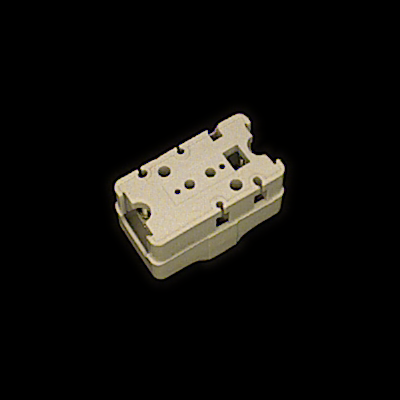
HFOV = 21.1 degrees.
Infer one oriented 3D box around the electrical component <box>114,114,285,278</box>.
[{"bbox_3d":[0.000,0.000,0.636,0.090,0.050,0.055,-30,-24,-15],"label":"electrical component"}]
